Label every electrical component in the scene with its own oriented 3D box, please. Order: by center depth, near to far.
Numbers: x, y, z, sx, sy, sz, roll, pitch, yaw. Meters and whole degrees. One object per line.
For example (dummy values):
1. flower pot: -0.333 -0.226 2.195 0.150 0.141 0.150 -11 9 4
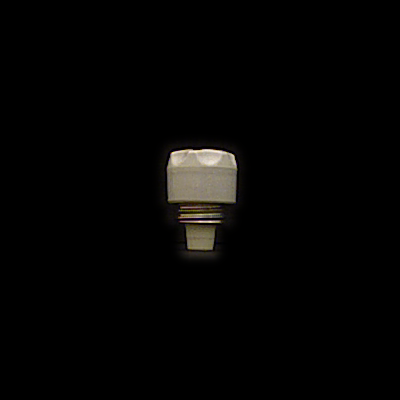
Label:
1. electrical component: 0.000 0.000 0.658 0.043 0.062 0.043 1 1 1
